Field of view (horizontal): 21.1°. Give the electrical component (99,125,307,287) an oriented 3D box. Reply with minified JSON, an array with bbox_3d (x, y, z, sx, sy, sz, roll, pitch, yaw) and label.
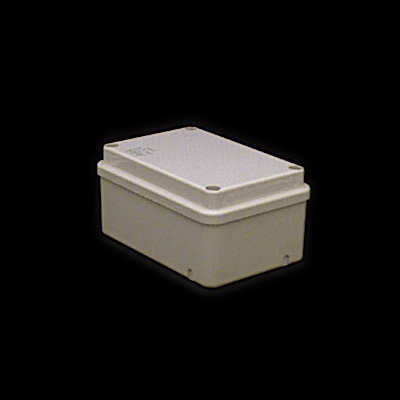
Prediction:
[{"bbox_3d":[0.000,0.000,0.637,0.078,0.058,0.112,-15,26,-37],"label":"electrical component"}]
